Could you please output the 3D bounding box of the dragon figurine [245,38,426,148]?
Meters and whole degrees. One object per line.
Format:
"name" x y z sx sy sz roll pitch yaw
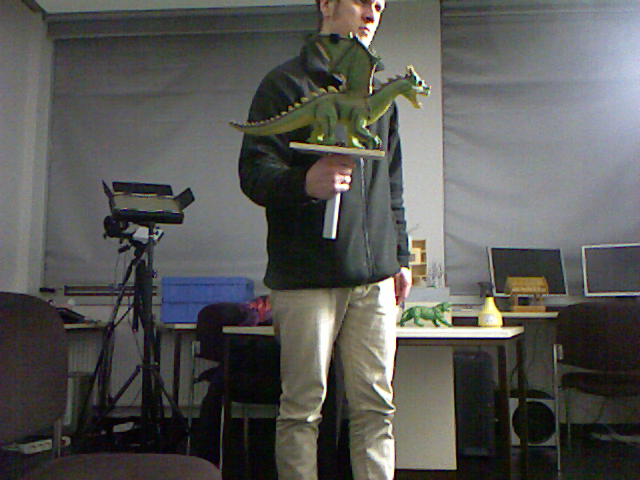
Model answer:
"dragon figurine" 0.035 -0.335 1.181 0.411 0.240 0.123 8 12 4
